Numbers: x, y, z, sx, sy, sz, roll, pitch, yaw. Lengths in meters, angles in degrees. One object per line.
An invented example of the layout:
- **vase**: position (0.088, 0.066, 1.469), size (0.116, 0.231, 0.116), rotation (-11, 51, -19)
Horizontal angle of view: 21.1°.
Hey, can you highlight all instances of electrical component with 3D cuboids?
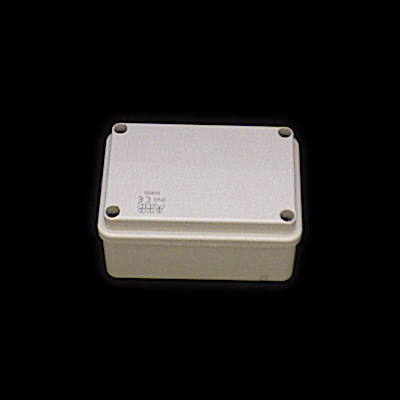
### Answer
- **electrical component**: position (0.000, 0.000, 0.627), size (0.113, 0.078, 0.057), rotation (1, -38, 0)
